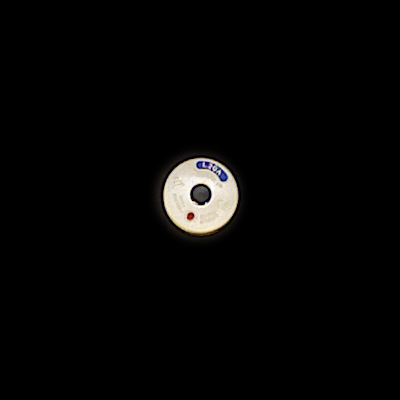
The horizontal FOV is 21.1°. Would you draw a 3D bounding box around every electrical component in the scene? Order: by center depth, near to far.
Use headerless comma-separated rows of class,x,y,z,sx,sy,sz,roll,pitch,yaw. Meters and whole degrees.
electrical component,0.000,0.000,0.617,0.040,0.040,0.078,0,-5,1
